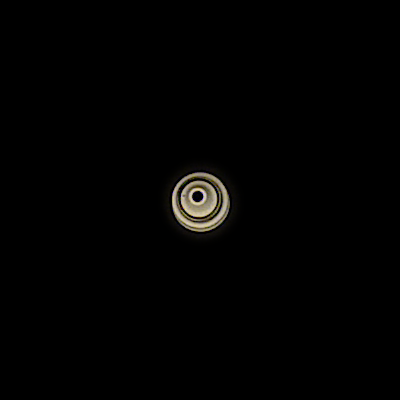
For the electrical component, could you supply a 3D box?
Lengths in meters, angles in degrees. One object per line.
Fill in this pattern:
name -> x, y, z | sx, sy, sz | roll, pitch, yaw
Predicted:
electrical component -> 0.000, 0.000, 0.637 | 0.035, 0.035, 0.061 | 0, -5, 2
